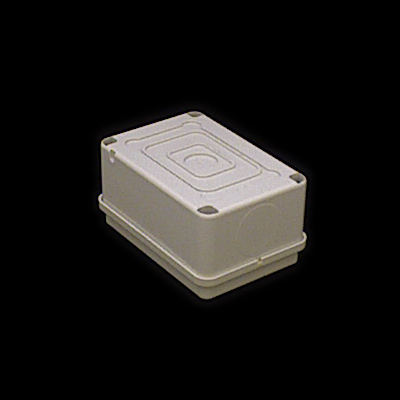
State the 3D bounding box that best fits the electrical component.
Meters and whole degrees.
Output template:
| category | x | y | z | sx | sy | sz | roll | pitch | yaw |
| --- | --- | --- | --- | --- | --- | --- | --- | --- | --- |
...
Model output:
| category | x | y | z | sx | sy | sz | roll | pitch | yaw |
| --- | --- | --- | --- | --- | --- | --- | --- | --- | --- |
| electrical component | 0.000 | 0.000 | 0.635 | 0.078 | 0.058 | 0.112 | -20 | 38 | -31 |
